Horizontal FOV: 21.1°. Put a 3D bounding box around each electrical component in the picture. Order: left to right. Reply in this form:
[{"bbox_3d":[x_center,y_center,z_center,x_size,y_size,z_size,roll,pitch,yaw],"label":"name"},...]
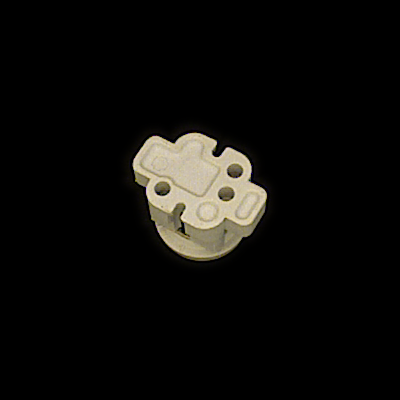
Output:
[{"bbox_3d":[0.000,0.000,0.635,0.078,0.058,0.057,26,-23,14],"label":"electrical component"}]
